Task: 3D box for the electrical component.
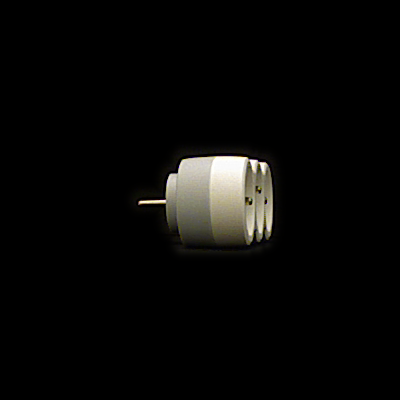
[{"bbox_3d":[0.000,0.000,0.659,0.073,0.052,0.138,0,0,10],"label":"electrical component"}]
